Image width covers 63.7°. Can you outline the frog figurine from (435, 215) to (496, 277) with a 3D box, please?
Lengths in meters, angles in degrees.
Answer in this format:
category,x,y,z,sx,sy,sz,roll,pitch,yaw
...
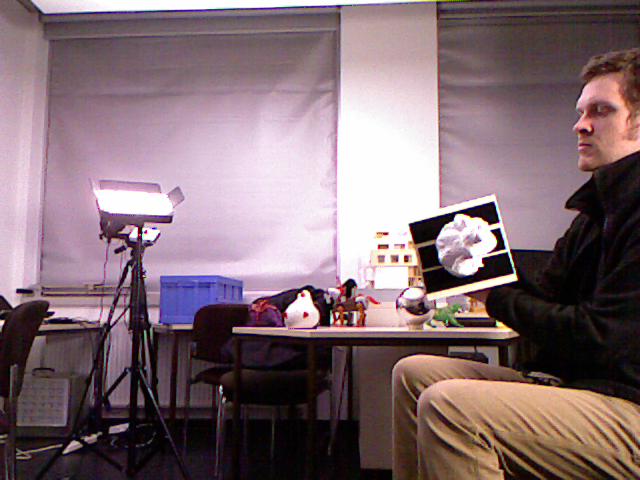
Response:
category,x,y,z,sx,sy,sz,roll,pitch,yaw
frog figurine,0.317,0.013,1.130,0.123,0.138,0.159,8,-4,10
